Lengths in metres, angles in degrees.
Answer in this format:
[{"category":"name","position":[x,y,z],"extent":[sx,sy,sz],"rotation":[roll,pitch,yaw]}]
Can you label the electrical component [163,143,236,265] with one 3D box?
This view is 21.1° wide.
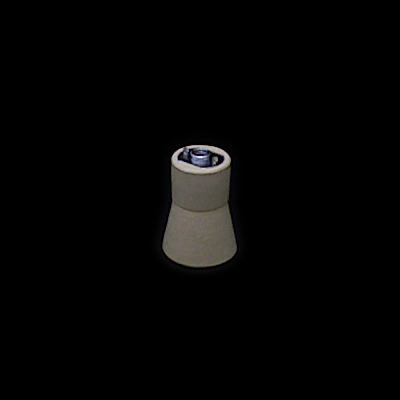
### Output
[{"category":"electrical component","position":[0.000,0.000,0.634],"extent":[0.044,0.066,0.044],"rotation":[1,31,-1]}]
